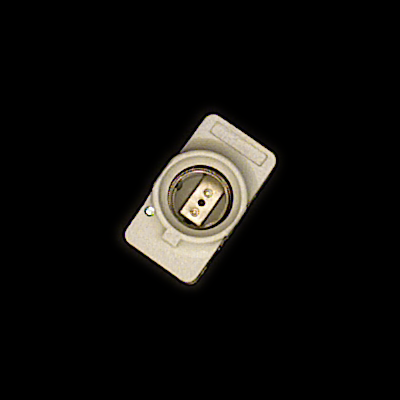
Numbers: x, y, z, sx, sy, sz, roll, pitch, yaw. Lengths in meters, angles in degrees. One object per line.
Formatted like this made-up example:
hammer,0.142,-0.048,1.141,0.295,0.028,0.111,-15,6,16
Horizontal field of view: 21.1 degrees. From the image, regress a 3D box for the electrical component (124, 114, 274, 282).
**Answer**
electrical component,0.000,0.000,0.637,0.050,0.090,0.055,34,-5,4
